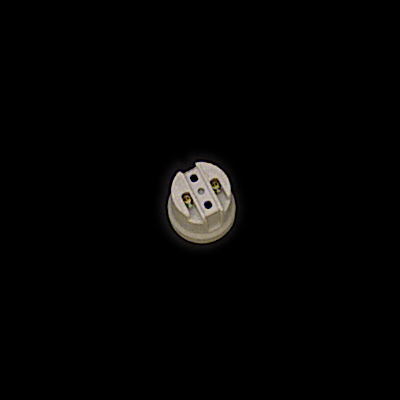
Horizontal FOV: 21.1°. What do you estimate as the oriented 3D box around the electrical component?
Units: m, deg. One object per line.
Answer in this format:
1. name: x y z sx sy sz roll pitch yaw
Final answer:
1. electrical component: 0.000 0.000 0.633 0.040 0.040 0.046 0 -17 1
